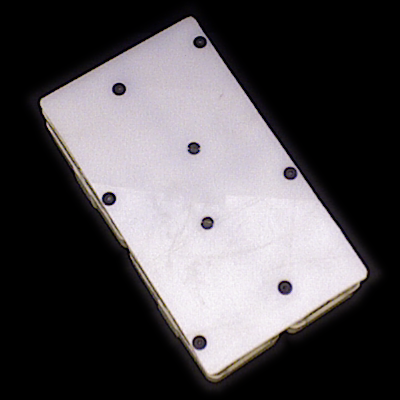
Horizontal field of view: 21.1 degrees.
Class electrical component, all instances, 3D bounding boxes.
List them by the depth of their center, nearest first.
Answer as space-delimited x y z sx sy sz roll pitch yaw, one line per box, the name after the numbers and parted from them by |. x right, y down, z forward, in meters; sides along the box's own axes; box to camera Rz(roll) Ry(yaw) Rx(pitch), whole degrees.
0.000 0.000 0.625 0.106 0.186 0.060 -31 -14 -9 | electrical component
